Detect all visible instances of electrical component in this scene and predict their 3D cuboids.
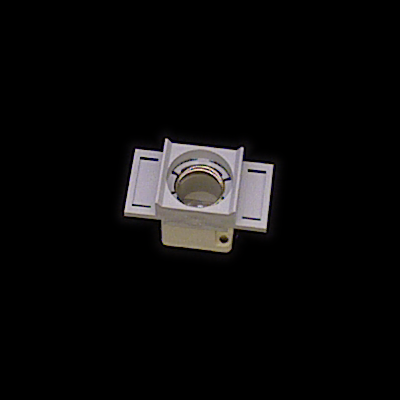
[{"bbox_3d":[0.000,0.000,0.624,0.081,0.042,0.063,7,-26,3],"label":"electrical component"}]
